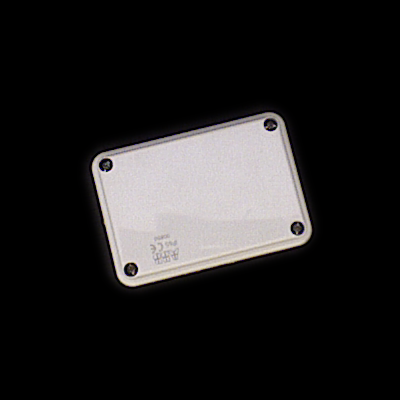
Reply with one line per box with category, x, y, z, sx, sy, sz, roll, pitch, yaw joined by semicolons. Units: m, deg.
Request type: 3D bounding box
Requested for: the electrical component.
electrical component;0.000;0.000;0.628;0.113;0.078;0.057;-14;-6;-2
